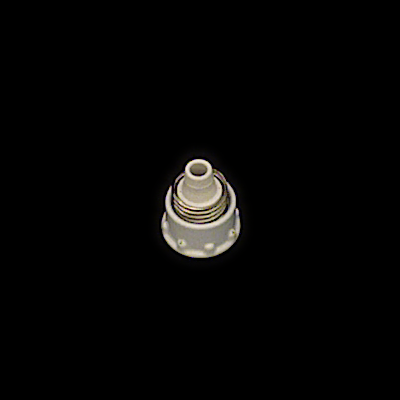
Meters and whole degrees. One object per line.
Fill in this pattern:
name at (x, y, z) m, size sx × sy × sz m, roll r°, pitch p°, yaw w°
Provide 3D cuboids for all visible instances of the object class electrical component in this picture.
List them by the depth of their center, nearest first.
electrical component at (0.000, 0.000, 0.634) m, size 0.048 × 0.048 × 0.062 m, roll 0°, pitch -37°, yaw 1°
